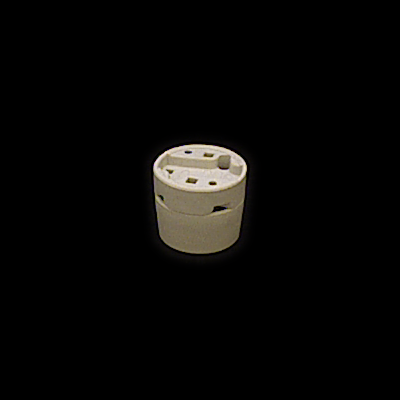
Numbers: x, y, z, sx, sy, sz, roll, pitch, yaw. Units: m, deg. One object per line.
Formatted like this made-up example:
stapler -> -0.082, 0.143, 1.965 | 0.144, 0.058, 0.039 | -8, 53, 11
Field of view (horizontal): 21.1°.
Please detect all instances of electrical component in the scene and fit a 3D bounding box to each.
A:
electrical component -> 0.000, 0.000, 0.639 | 0.055, 0.047, 0.055 | 1, 32, 0
